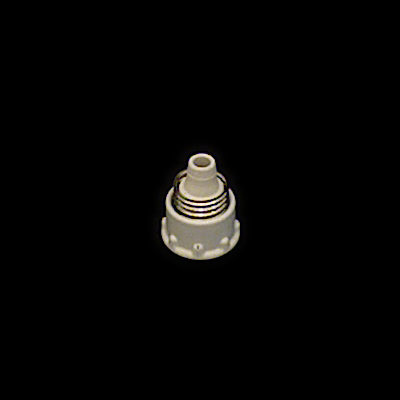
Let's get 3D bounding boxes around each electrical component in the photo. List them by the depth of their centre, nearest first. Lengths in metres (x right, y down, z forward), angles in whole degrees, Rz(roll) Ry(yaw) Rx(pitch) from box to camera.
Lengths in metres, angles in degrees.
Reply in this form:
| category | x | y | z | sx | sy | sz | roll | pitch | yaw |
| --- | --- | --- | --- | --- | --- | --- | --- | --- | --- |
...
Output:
| category | x | y | z | sx | sy | sz | roll | pitch | yaw |
| --- | --- | --- | --- | --- | --- | --- | --- | --- | --- |
| electrical component | 0.000 | 0.000 | 0.639 | 0.048 | 0.062 | 0.047 | 1 | 42 | 0 |
